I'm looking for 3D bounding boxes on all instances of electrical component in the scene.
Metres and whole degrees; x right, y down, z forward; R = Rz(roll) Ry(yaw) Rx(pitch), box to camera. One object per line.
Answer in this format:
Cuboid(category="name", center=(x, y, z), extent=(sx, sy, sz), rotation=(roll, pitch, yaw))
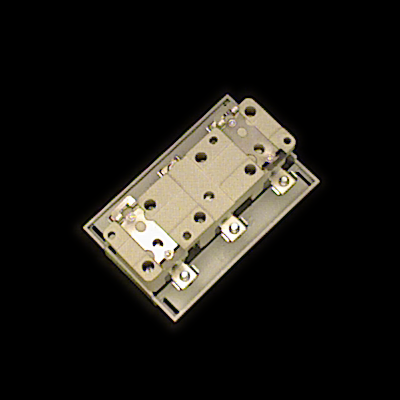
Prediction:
Cuboid(category="electrical component", center=(0.000, 0.000, 0.634), extent=(0.122, 0.078, 0.062), rotation=(-43, -13, -11))
